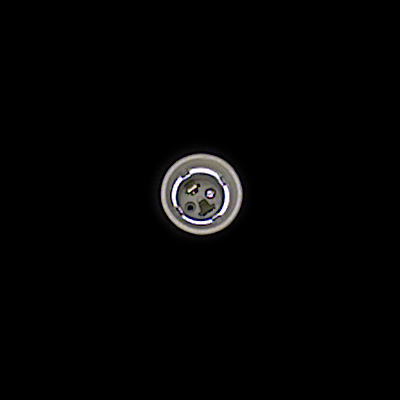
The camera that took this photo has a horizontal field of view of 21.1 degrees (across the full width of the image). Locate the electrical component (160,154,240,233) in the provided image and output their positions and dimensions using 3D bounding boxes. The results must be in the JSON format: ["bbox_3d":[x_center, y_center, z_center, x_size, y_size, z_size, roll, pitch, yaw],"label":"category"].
[{"bbox_3d":[0.000,0.000,0.625,0.044,0.044,0.065,0,-7,0],"label":"electrical component"}]
